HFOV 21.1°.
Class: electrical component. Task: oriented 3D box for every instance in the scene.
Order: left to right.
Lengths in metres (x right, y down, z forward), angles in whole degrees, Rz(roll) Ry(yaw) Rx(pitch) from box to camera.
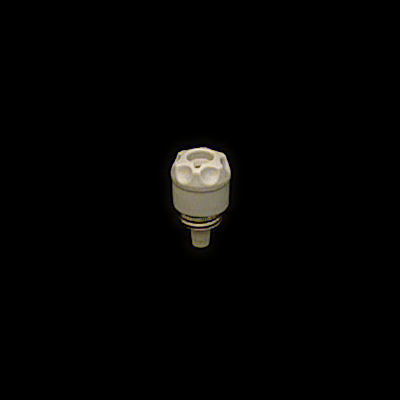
[{"bbox_3d":[0.000,0.000,0.639,0.035,0.062,0.035,0,32,0],"label":"electrical component"}]
